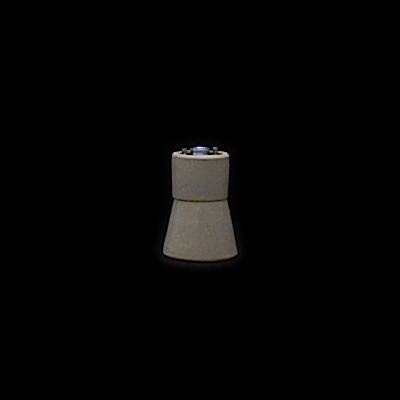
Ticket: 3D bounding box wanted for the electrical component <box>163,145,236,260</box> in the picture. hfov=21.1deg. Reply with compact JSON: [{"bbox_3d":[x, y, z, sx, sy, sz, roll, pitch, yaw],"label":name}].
[{"bbox_3d":[0.000,0.000,0.646,0.044,0.066,0.044,0,10,0],"label":"electrical component"}]
